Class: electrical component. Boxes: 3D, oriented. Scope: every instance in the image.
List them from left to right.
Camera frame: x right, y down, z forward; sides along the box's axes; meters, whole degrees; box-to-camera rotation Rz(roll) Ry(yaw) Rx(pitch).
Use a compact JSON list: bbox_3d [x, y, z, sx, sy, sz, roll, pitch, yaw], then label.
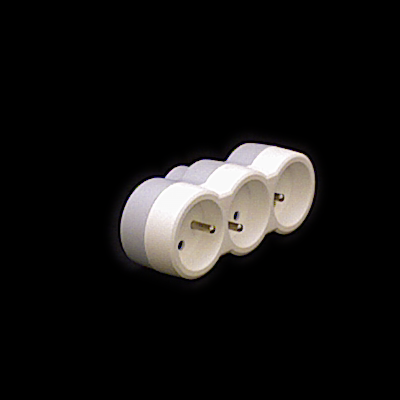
[{"bbox_3d":[0.000,0.000,0.638,0.073,0.053,0.138,15,26,37],"label":"electrical component"}]
